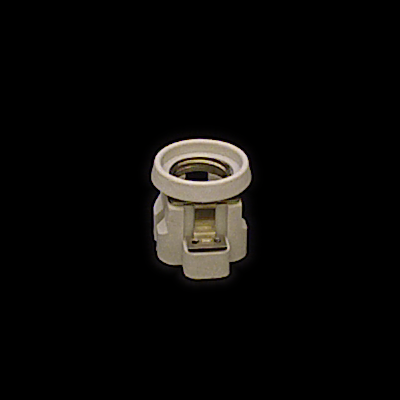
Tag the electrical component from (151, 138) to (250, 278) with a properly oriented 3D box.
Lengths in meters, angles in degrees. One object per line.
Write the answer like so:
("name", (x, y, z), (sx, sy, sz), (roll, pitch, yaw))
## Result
("electrical component", (0.000, 0.000, 0.634), (0.058, 0.057, 0.077), (-3, 32, -7))
